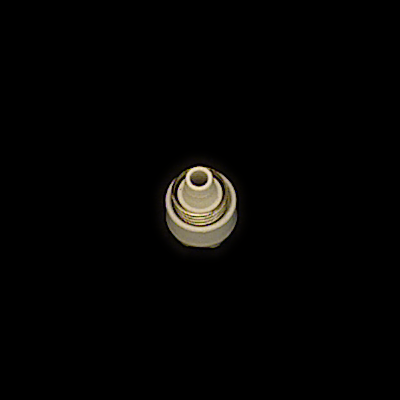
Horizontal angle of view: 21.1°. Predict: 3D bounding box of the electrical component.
[{"bbox_3d":[0.000,0.000,0.633,0.043,0.043,0.062,0,-26,2],"label":"electrical component"}]
